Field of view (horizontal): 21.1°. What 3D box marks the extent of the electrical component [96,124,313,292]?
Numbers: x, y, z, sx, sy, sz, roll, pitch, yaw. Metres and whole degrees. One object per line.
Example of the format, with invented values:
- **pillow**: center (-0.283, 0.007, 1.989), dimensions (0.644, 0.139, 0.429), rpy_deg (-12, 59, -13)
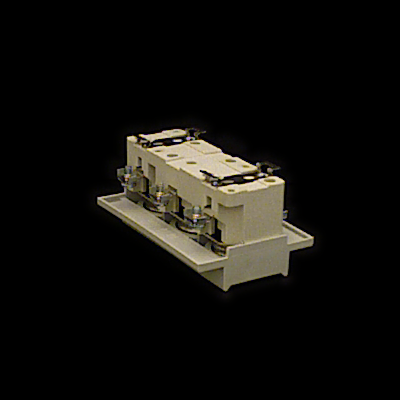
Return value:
- **electrical component**: center (0.000, 0.000, 0.648), dimensions (0.079, 0.064, 0.119), rpy_deg (-12, 25, -31)
